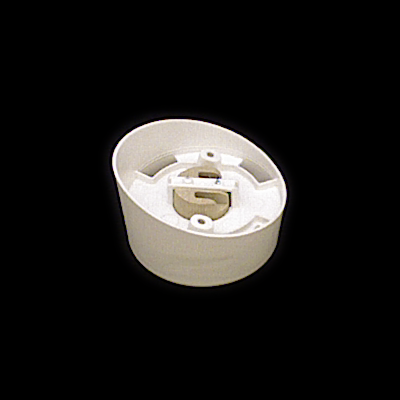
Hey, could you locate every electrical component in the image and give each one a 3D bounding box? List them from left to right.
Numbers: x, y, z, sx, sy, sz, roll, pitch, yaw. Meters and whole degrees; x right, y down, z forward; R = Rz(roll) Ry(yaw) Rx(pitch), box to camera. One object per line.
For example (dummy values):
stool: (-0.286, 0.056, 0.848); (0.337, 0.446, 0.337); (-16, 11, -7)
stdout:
electrical component: (0.000, 0.000, 0.628); (0.099, 0.064, 0.098); (0, 42, 0)
